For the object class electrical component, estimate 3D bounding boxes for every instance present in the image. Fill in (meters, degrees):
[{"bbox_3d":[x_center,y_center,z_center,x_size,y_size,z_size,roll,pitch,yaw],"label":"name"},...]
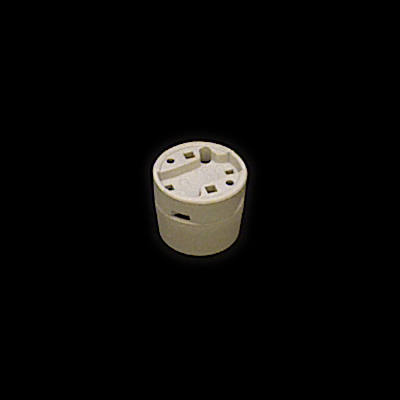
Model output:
[{"bbox_3d":[0.000,0.000,0.637,0.055,0.047,0.055,0,43,0],"label":"electrical component"}]
